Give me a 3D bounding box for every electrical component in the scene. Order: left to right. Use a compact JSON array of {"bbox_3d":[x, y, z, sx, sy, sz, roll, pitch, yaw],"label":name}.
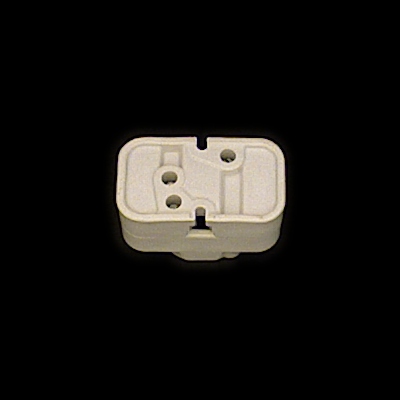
[{"bbox_3d":[0.000,0.000,0.634,0.095,0.054,0.059,1,-27,0],"label":"electrical component"}]
